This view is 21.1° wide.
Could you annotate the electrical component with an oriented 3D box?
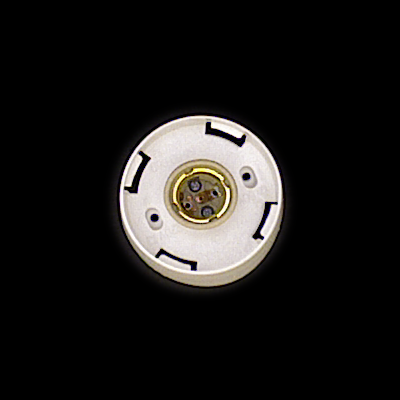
[{"bbox_3d":[0.000,0.000,0.625,0.099,0.099,0.064,0,-6,0],"label":"electrical component"}]
